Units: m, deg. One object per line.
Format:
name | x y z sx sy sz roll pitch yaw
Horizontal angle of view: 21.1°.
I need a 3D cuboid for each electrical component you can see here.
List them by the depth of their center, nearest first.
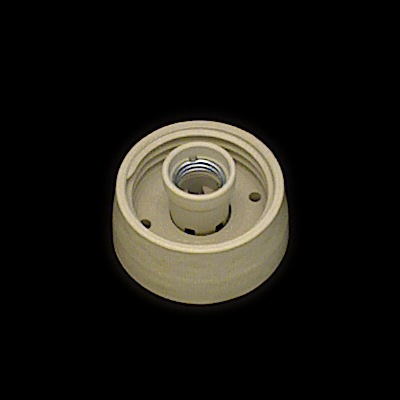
electrical component | 0.000 0.000 0.635 0.108 0.107 0.060 0 -37 0
